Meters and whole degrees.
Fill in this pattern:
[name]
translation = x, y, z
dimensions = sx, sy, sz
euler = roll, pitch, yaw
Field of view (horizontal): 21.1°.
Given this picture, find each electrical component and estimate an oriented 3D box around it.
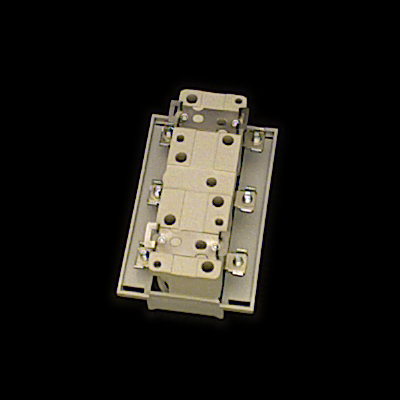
[electrical component]
translation = 0.000, 0.000, 0.633
dimensions = 0.078, 0.121, 0.063
euler = 7, -27, 4
